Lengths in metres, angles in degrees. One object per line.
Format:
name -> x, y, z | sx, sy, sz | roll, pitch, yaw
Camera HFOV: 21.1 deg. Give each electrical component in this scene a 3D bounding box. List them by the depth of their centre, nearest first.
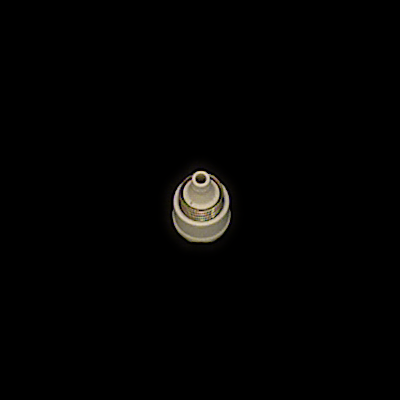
electrical component -> 0.000, 0.000, 0.638 | 0.035, 0.035, 0.061 | 0, -25, 1
